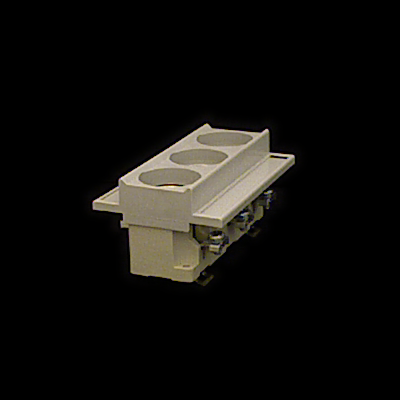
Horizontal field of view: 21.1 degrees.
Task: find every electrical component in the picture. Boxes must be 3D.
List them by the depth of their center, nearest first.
[{"bbox_3d":[0.000,0.000,0.650,0.078,0.064,0.120,8,23,22],"label":"electrical component"}]
